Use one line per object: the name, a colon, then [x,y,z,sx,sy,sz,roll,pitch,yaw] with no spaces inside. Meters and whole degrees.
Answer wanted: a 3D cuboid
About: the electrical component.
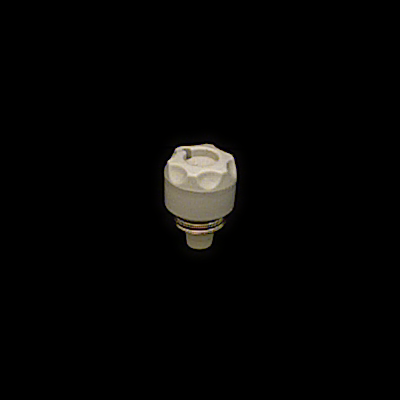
electrical component: [0.000,0.000,0.641,0.043,0.063,0.043,1,33,0]
